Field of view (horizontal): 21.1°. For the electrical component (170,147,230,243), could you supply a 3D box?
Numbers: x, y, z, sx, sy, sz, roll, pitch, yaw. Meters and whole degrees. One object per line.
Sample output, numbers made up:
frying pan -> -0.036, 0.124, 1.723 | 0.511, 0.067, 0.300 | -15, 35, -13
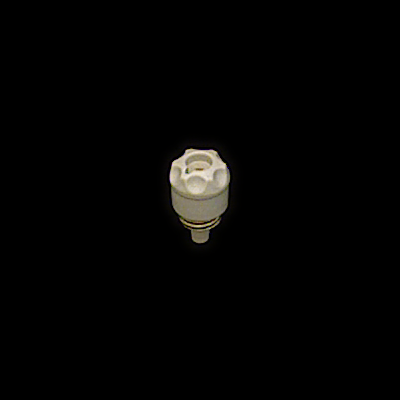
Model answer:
electrical component -> 0.000, 0.000, 0.637 | 0.035, 0.062, 0.035 | 0, 43, 0
